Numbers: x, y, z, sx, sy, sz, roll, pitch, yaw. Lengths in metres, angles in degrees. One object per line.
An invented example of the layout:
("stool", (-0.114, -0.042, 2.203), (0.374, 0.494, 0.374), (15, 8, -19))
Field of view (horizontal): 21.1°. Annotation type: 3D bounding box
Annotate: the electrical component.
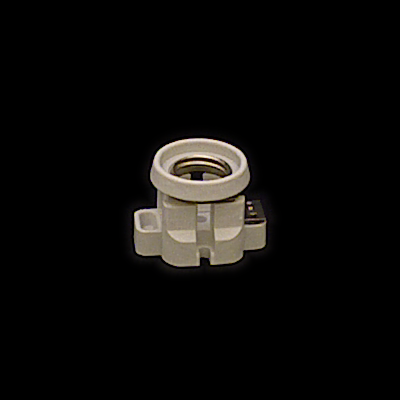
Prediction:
("electrical component", (0.000, 0.000, 0.636), (0.078, 0.057, 0.057), (-3, 32, -7))
